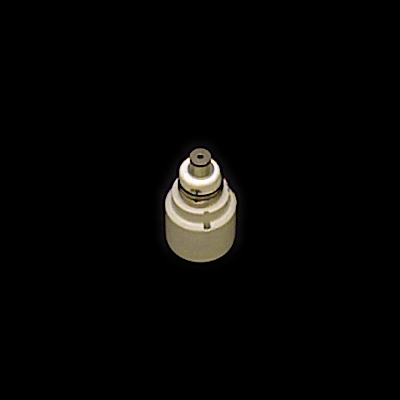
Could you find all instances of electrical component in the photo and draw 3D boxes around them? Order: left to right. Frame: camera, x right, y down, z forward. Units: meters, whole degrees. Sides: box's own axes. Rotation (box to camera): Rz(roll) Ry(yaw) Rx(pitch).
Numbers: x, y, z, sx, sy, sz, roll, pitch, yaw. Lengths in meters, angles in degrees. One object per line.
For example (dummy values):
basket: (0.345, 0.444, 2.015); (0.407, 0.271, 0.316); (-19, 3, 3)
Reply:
electrical component: (0.000, 0.000, 0.619); (0.040, 0.040, 0.079); (0, -39, 0)
